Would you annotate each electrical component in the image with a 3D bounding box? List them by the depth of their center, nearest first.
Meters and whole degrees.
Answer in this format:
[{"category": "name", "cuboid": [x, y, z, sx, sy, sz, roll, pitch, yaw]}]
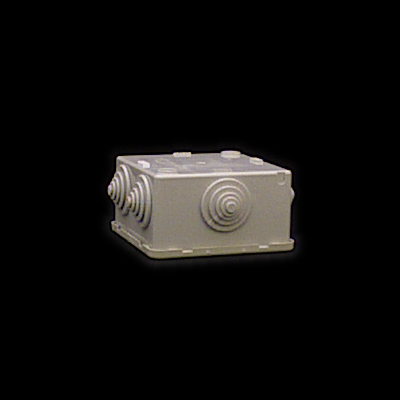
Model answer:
[{"category": "electrical component", "cuboid": [0.000, 0.000, 0.644, 0.100, 0.049, 0.099, -3, 11, -20]}]
